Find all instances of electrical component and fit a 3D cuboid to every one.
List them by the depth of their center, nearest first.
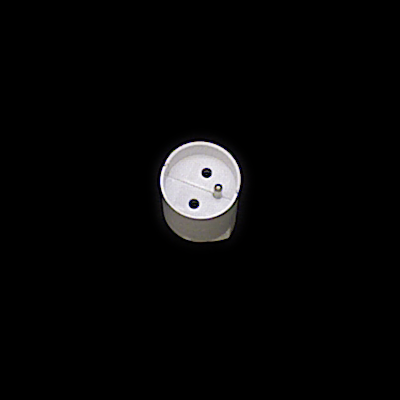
[{"bbox_3d":[0.000,0.000,0.616,0.043,0.043,0.080,0,-16,0],"label":"electrical component"}]
